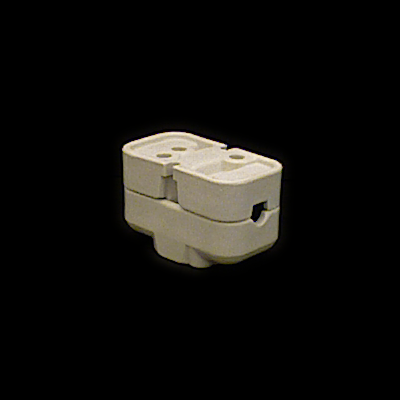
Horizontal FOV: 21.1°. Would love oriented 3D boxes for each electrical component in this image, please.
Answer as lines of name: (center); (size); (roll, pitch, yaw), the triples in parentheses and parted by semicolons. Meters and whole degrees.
electrical component: (0.000, 0.000, 0.643); (0.094, 0.060, 0.054); (20, 29, 38)
